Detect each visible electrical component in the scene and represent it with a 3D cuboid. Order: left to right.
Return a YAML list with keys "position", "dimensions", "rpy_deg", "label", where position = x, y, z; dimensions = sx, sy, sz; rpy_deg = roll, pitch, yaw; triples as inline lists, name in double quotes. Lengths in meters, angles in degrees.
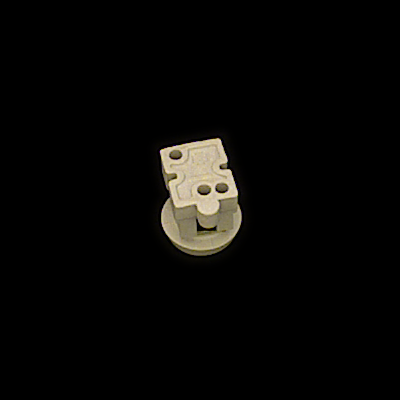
- position: [0.000, 0.000, 0.638]
  dimensions: [0.048, 0.066, 0.055]
  rpy_deg: [-11, -37, -7]
  label: "electrical component"
